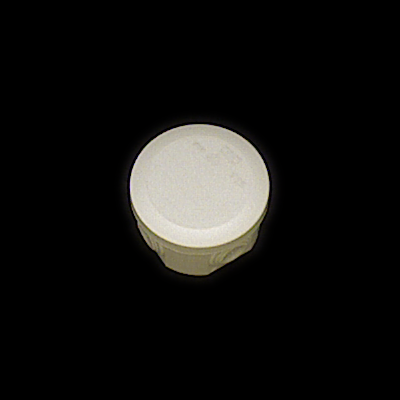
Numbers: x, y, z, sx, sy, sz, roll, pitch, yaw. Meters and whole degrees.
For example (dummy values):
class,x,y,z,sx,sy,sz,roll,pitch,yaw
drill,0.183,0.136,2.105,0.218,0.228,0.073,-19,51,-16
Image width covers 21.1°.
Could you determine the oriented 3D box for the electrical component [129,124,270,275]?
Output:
class,x,y,z,sx,sy,sz,roll,pitch,yaw
electrical component,0.000,0.000,0.629,0.080,0.080,0.050,0,-27,0
